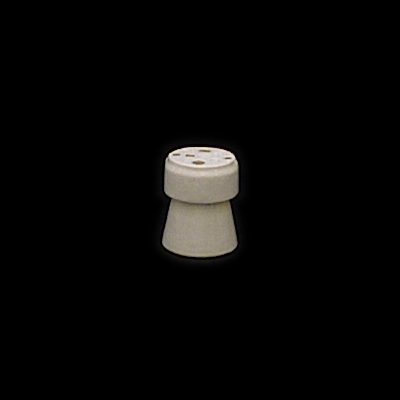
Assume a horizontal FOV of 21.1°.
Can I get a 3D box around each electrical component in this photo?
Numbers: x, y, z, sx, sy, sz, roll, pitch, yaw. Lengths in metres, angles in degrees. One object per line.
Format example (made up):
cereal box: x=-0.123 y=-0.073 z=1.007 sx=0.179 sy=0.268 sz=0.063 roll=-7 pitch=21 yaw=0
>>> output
electrical component: x=0.000 y=0.000 z=0.641 sx=0.045 sy=0.056 sz=0.044 roll=1 pitch=21 yaw=0
